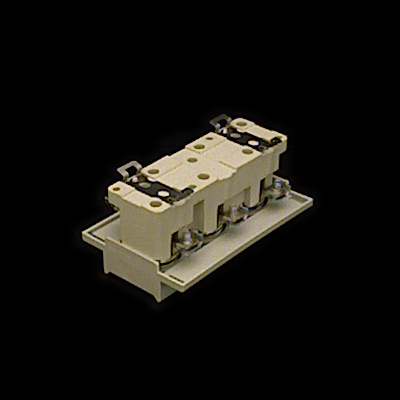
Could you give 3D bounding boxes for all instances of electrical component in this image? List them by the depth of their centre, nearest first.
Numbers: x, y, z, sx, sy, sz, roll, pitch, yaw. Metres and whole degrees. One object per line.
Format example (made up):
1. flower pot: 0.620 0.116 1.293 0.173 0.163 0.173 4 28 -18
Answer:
1. electrical component: 0.000 0.000 0.640 0.078 0.064 0.121 25 40 33
